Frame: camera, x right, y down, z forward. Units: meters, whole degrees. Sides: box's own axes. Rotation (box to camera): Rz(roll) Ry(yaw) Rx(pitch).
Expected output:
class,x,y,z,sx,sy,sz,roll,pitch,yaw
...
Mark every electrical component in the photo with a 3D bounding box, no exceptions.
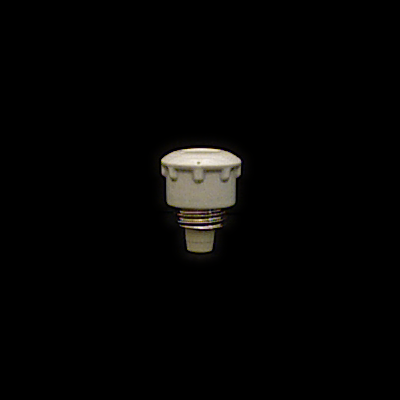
class,x,y,z,sx,sy,sz,roll,pitch,yaw
electrical component,0.000,0.000,0.649,0.048,0.062,0.048,1,11,0
